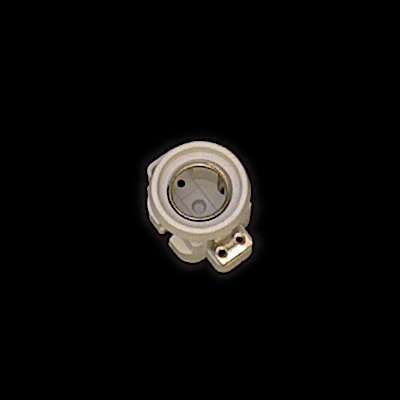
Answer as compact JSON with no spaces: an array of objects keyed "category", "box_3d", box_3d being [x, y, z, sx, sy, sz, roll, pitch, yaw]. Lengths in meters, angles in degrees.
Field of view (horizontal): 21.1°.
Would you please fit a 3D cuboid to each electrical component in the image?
[{"category":"electrical component","box_3d":[0.000,0.000,0.628,0.058,0.078,0.056,-36,-13,-10]}]
